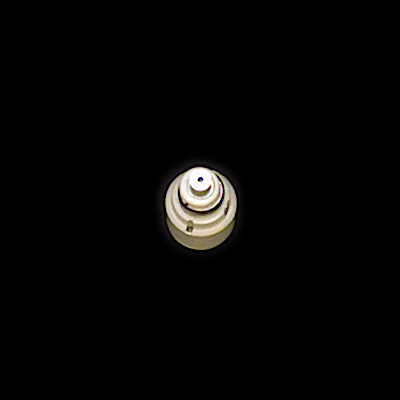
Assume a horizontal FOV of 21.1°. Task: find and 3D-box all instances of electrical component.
[{"bbox_3d":[0.000,0.000,0.617,0.040,0.040,0.078,0,-18,0],"label":"electrical component"}]
